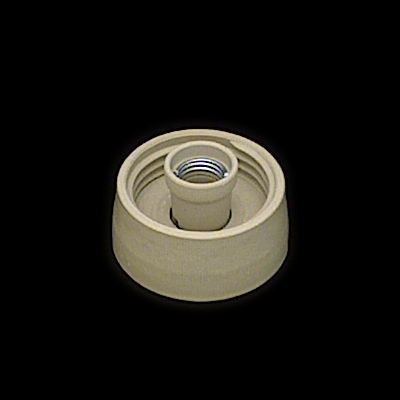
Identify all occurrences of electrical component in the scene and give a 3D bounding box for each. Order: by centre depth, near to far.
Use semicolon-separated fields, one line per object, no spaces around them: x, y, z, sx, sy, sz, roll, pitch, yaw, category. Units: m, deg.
0.000;0.000;0.638;0.108;0.061;0.106;1;42;0;electrical component
